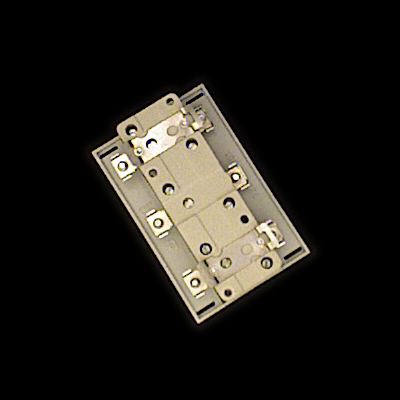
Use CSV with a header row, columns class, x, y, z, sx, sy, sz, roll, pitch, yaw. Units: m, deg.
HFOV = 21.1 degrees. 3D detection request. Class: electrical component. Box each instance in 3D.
class,x,y,z,sx,sy,sz,roll,pitch,yaw
electrical component,0.000,0.000,0.635,0.079,0.121,0.063,-32,-5,-4
